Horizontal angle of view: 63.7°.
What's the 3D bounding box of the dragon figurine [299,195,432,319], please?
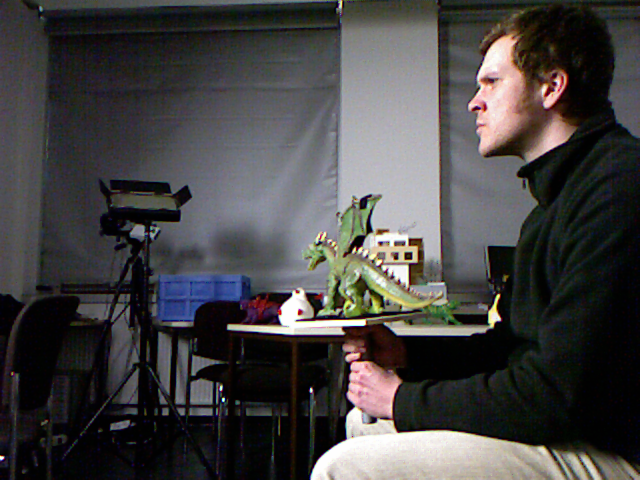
[{"bbox_3d":[0.077,0.030,1.028,0.122,0.245,0.407,0,-8,-33],"label":"dragon figurine"}]
